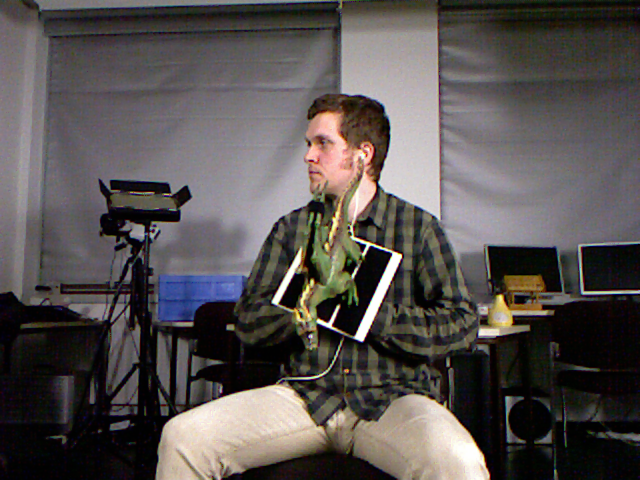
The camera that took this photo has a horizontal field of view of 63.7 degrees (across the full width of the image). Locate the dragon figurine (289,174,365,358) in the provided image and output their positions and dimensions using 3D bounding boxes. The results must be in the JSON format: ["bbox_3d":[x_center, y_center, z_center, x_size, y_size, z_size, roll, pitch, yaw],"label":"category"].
[{"bbox_3d":[0.013,0.010,0.947,0.123,0.419,0.239,7,-22,10],"label":"dragon figurine"}]
